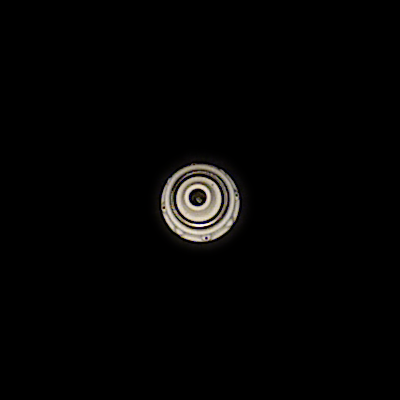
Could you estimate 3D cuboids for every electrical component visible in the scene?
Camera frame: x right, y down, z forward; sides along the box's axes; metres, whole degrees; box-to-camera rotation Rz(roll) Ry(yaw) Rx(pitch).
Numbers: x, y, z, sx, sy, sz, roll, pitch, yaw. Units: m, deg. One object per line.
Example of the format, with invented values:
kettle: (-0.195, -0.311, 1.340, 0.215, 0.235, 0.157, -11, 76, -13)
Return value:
electrical component: (0.000, 0.000, 0.634, 0.048, 0.048, 0.062, 0, -4, 1)
